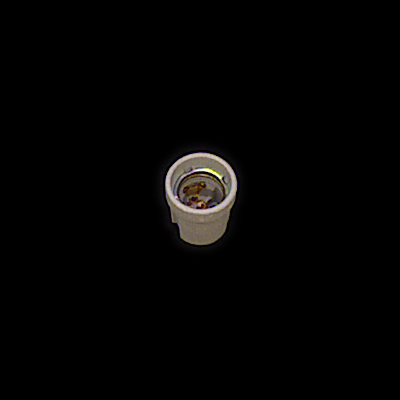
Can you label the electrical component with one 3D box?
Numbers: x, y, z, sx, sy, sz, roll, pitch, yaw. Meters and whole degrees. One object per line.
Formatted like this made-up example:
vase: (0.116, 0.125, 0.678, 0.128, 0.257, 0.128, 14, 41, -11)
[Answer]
electrical component: (0.000, 0.000, 0.628, 0.040, 0.040, 0.046, 0, -27, -1)
